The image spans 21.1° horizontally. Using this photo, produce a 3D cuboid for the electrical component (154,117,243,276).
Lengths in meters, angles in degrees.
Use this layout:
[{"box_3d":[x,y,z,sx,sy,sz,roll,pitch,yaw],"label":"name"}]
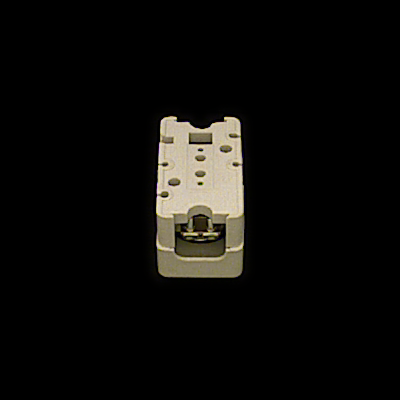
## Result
[{"box_3d":[0.000,0.000,0.639,0.050,0.056,0.089,0,42,0],"label":"electrical component"}]
